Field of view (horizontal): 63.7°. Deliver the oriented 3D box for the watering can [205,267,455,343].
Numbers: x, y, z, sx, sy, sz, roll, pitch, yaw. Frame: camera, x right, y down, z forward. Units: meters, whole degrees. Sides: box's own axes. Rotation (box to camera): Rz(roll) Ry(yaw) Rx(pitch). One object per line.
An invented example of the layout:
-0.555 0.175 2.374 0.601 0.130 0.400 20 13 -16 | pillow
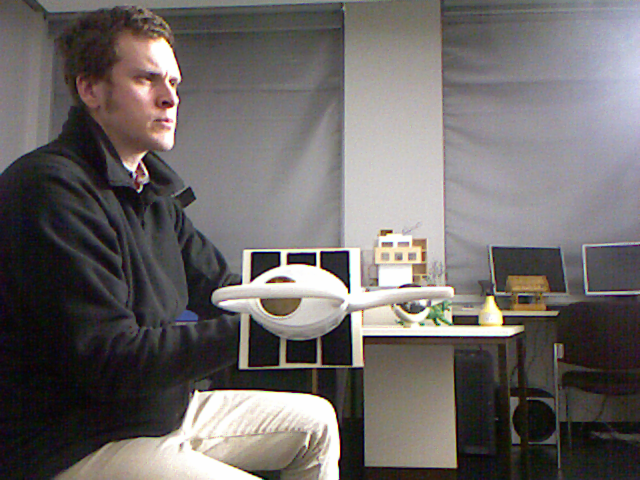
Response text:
0.010 0.099 0.779 0.349 0.106 0.222 0 -15 2 | watering can
